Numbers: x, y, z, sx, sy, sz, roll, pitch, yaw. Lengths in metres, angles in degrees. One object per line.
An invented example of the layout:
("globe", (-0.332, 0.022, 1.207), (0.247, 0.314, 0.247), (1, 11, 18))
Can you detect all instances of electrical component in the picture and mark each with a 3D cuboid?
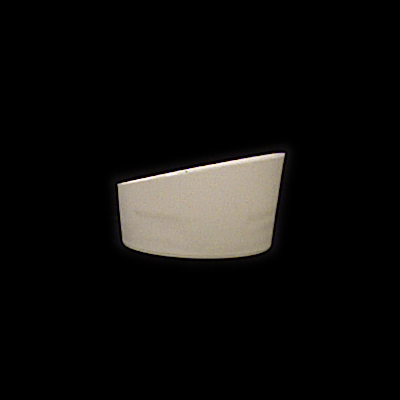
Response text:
("electrical component", (0.000, 0.000, 0.644), (0.099, 0.064, 0.098), (2, 10, 0))
